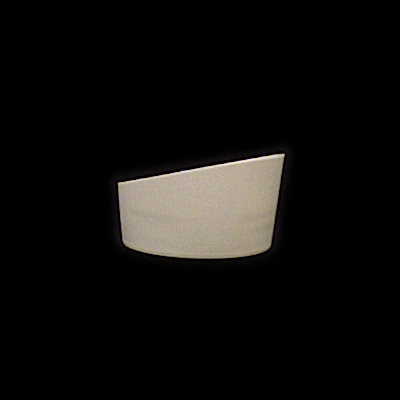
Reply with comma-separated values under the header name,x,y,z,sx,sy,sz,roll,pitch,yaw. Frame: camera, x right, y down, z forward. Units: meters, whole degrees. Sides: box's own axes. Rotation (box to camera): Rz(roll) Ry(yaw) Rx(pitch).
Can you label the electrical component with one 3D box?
name,x,y,z,sx,sy,sz,roll,pitch,yaw
electrical component,0.000,0.000,0.644,0.099,0.064,0.098,2,10,0
